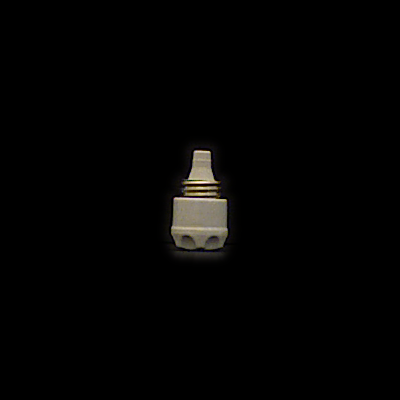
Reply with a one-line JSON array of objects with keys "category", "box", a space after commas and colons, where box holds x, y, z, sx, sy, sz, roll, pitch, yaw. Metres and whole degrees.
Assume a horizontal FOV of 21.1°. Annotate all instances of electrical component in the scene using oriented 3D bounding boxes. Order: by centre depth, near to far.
[{"category": "electrical component", "box": [0.000, 0.000, 0.664, 0.035, 0.061, 0.035, 2, 3, 0]}]
